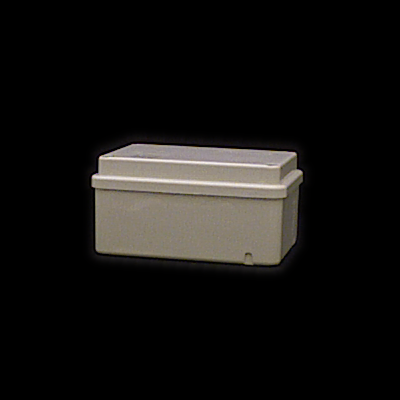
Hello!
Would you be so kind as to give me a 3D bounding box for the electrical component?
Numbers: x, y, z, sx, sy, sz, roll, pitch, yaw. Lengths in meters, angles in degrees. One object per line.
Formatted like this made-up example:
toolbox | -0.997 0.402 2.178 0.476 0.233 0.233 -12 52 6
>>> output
electrical component | 0.000 0.000 0.641 0.113 0.057 0.077 4 11 12
